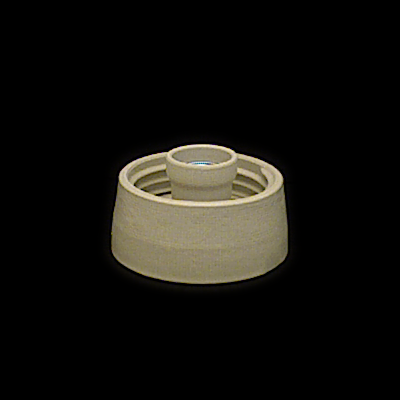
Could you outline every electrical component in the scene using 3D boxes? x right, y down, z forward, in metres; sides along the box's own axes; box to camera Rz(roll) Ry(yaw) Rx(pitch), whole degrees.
[{"bbox_3d":[0.000,0.000,0.646,0.108,0.061,0.106,1,21,0],"label":"electrical component"}]
